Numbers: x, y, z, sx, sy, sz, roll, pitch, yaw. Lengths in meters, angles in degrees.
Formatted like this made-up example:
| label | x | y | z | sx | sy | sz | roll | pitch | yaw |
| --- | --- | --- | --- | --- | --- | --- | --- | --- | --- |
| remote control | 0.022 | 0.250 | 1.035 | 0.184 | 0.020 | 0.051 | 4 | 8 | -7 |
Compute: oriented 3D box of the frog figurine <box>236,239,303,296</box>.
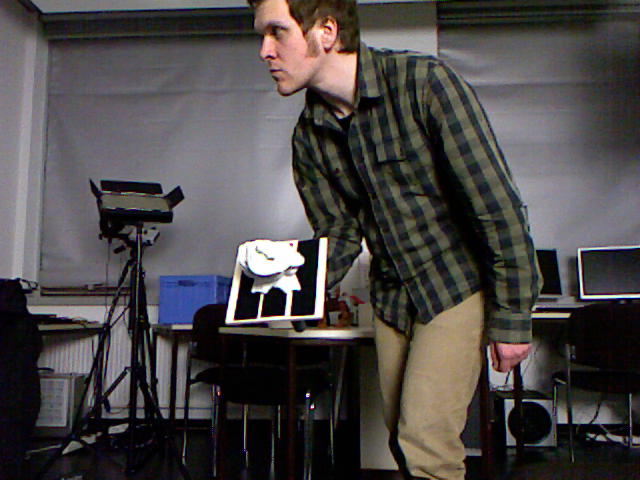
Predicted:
| label | x | y | z | sx | sy | sz | roll | pitch | yaw |
| --- | --- | --- | --- | --- | --- | --- | --- | --- | --- |
| frog figurine | -0.107 | 0.034 | 1.034 | 0.138 | 0.126 | 0.156 | 11 | -35 | 22 |
